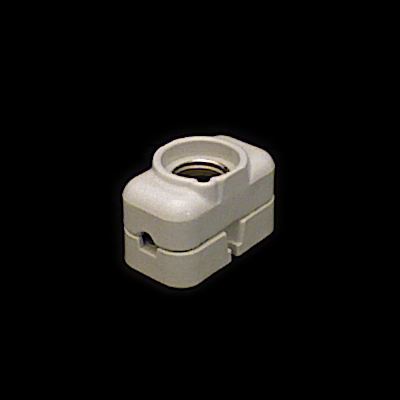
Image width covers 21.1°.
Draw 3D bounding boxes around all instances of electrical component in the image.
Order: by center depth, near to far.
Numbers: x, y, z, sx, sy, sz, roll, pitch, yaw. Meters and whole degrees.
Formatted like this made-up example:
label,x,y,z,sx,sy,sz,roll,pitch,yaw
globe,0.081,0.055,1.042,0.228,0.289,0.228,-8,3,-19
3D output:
label,x,y,z,sx,sy,sz,roll,pitch,yaw
electrical component,0.000,0.000,0.640,0.053,0.060,0.095,24,39,33
